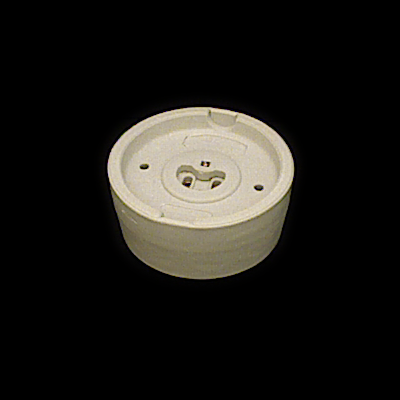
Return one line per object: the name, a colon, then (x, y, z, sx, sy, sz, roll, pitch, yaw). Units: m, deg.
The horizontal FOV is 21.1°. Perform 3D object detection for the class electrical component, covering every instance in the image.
electrical component: (0.000, 0.000, 0.641, 0.108, 0.061, 0.106, 1, 43, 0)
